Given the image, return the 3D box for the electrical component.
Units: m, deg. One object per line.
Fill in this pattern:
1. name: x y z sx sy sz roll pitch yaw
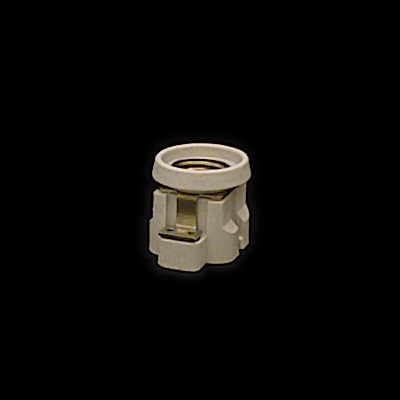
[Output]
1. electrical component: 0.000 0.000 0.637 0.057 0.057 0.078 8 22 18
